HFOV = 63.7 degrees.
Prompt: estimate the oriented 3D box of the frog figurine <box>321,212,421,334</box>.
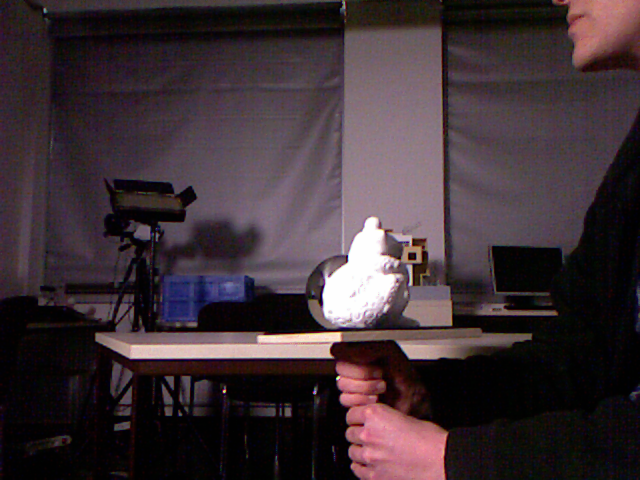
[{"bbox_3d":[0.062,0.041,0.667,0.123,0.161,0.136,1,-8,-21],"label":"frog figurine"}]
